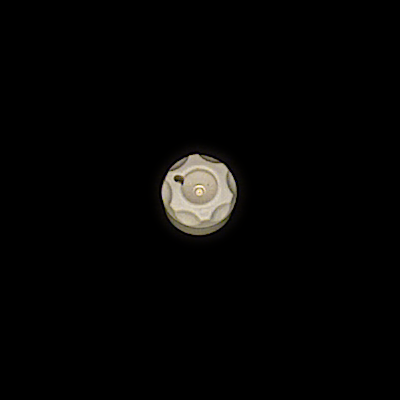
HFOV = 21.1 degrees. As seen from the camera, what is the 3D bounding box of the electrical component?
[{"bbox_3d":[0.000,0.000,0.634,0.043,0.043,0.061,0,-16,-1],"label":"electrical component"}]
